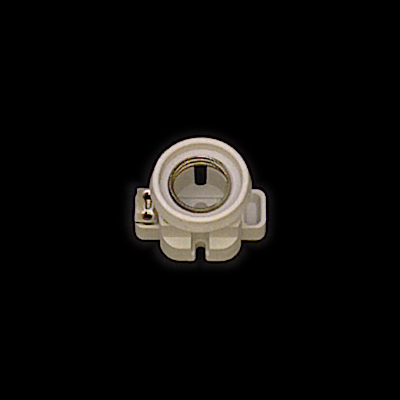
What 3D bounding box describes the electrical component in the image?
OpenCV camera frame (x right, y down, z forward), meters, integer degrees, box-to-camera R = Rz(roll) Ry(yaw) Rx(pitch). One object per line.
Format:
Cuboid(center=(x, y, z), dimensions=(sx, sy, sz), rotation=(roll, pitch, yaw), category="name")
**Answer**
Cuboid(center=(0.000, 0.000, 0.628), dimensions=(0.078, 0.058, 0.056), rotation=(0, -27, 0), category="electrical component")
